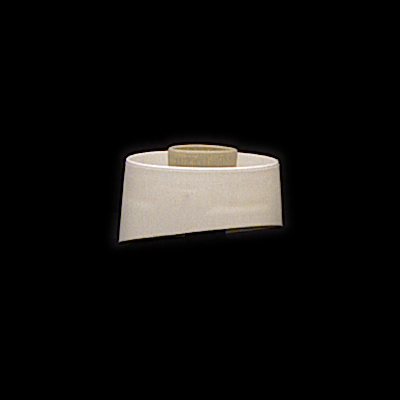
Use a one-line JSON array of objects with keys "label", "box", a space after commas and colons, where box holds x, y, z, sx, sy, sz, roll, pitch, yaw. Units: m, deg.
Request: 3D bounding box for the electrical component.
[{"label": "electrical component", "box": [0.000, 0.000, 0.644, 0.099, 0.064, 0.098, 1, 10, 0]}]
